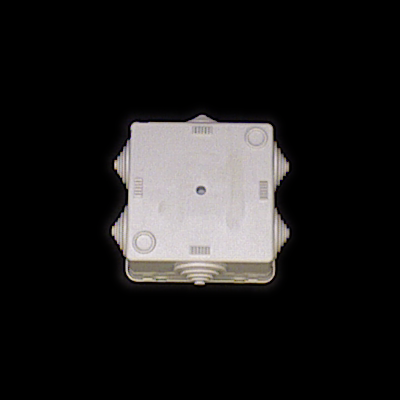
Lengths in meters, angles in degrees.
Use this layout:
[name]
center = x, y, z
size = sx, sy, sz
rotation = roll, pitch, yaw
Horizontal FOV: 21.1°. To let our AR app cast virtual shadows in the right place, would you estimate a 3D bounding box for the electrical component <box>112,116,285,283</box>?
[electrical component]
center = 0.000, 0.000, 0.632
size = 0.100, 0.100, 0.048
rotation = 1, -17, 0
